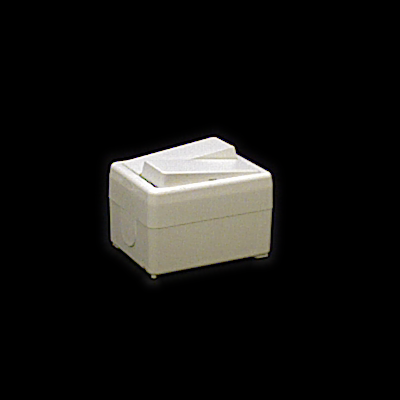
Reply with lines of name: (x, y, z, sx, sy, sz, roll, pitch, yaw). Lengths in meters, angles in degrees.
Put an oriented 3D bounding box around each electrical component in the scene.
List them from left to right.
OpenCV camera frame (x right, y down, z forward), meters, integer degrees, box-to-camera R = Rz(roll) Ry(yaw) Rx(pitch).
electrical component: (0.000, 0.000, 0.640, 0.096, 0.061, 0.061, -10, 23, -26)
